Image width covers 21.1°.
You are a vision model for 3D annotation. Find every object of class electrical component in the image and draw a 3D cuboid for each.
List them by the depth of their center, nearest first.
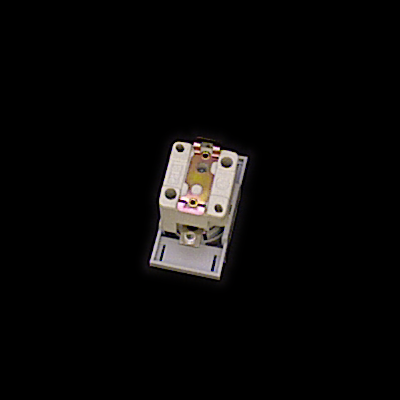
[{"bbox_3d":[0.000,0.000,0.625,0.042,0.081,0.063,11,-27,5],"label":"electrical component"}]
